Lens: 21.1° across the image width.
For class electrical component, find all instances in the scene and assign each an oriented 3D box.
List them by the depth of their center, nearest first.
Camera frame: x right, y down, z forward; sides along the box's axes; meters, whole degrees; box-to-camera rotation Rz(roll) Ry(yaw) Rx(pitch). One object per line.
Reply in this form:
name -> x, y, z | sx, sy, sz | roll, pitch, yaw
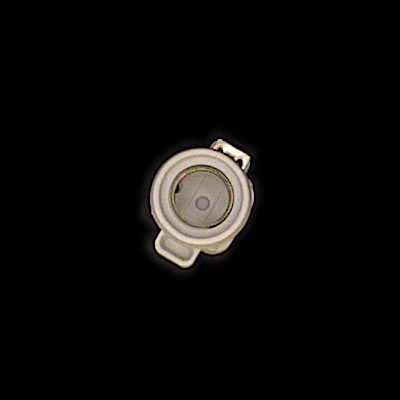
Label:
electrical component -> 0.000, 0.000, 0.630 | 0.058, 0.079, 0.056 | 30, -5, 4
